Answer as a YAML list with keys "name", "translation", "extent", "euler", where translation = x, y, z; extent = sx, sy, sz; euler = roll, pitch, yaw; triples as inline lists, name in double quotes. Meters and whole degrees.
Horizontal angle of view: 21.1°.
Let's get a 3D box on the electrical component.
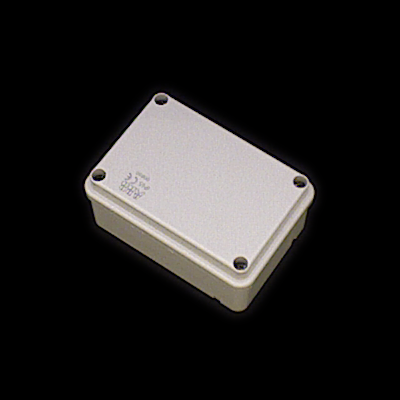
- name: "electrical component"
  translation: [0.000, 0.000, 0.626]
  extent: [0.113, 0.078, 0.057]
  euler: [31, -23, 14]
